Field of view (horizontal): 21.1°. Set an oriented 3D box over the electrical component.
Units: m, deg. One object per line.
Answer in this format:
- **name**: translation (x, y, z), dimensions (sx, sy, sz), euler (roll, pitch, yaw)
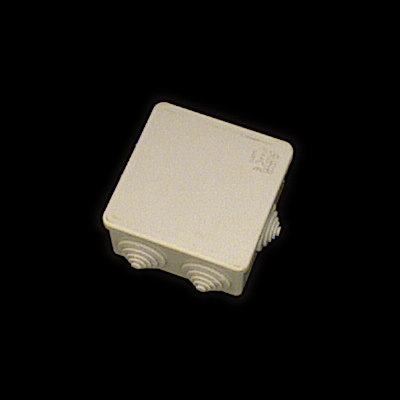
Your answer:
- **electrical component**: translation (0.000, 0.000, 0.640), dimensions (0.099, 0.100, 0.048), euler (19, -25, 9)
